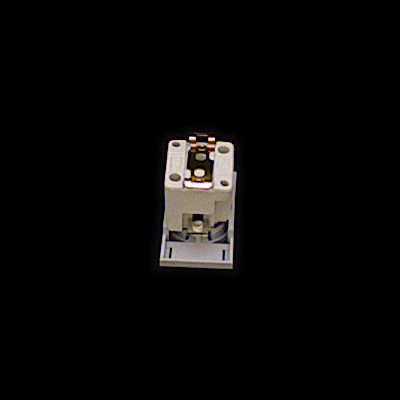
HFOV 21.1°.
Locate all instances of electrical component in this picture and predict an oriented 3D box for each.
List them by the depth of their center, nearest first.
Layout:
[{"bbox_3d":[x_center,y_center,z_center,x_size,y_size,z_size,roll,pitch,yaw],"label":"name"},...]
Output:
[{"bbox_3d":[0.000,0.000,0.629,0.042,0.064,0.080,2,42,1],"label":"electrical component"}]
